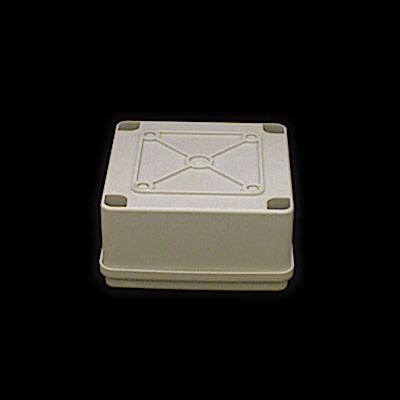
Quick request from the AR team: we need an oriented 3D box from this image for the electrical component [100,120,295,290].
[{"bbox_3d":[0.000,0.000,0.632,0.109,0.057,0.107,1,32,1],"label":"electrical component"}]
